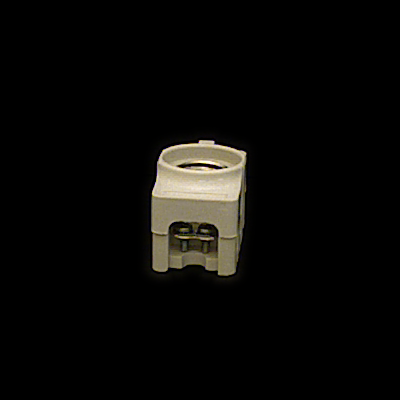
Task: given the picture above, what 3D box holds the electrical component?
[{"bbox_3d":[0.000,0.000,0.647,0.050,0.056,0.088,3,22,4],"label":"electrical component"}]
